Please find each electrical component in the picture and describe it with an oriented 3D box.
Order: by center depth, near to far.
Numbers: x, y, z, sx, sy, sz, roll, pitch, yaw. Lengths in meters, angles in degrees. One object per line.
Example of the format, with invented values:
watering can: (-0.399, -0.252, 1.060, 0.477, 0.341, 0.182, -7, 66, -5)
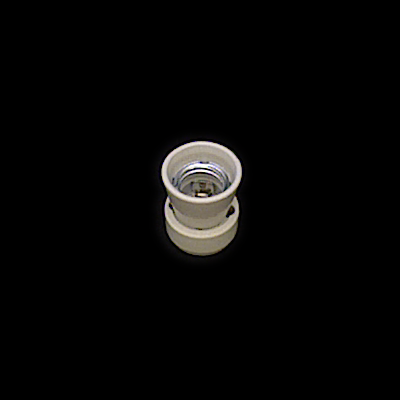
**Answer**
electrical component: (0.000, 0.000, 0.630, 0.045, 0.044, 0.055, 0, -38, -1)
